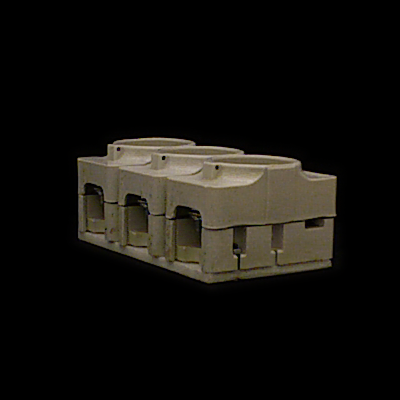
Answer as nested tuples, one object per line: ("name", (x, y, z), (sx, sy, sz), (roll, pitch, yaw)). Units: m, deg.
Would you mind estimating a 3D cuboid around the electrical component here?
("electrical component", (0.000, 0.000, 0.649), (0.089, 0.062, 0.148), (-7, 12, -35))
